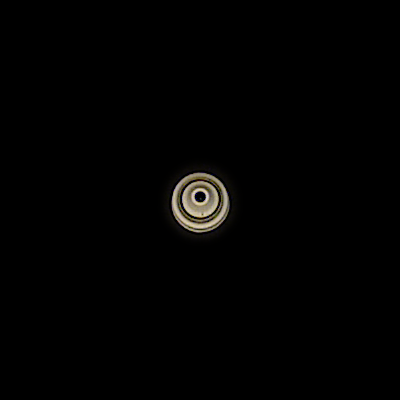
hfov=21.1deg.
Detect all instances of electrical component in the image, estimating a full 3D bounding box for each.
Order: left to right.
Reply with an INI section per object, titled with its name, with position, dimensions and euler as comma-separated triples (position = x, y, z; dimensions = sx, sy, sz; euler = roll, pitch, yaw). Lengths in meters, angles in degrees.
[electrical component]
position = 0.000, 0.000, 0.638
dimensions = 0.035, 0.035, 0.061
euler = 0, -4, 0
